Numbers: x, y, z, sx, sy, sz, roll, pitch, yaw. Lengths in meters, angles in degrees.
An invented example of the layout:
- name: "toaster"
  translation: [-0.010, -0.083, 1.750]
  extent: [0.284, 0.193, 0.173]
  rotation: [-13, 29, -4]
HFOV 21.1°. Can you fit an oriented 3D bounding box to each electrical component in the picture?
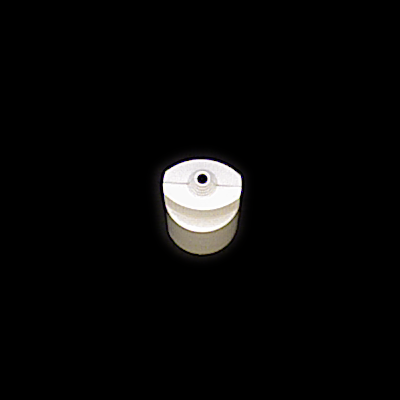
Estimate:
- name: "electrical component"
  translation: [0.000, 0.000, 0.616]
  extent: [0.043, 0.043, 0.080]
  rotation: [0, -17, 0]
